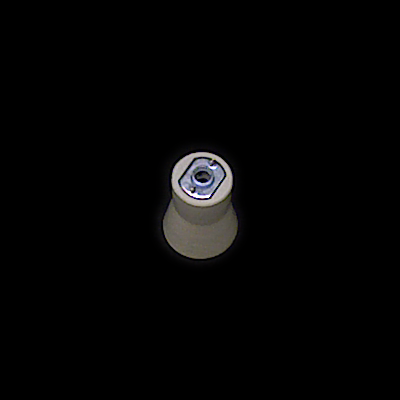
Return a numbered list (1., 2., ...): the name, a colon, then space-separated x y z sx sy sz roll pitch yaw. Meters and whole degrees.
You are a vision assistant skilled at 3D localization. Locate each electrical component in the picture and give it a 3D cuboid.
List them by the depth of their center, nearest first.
1. electrical component: 0.000 0.000 0.624 0.044 0.044 0.065 0 -27 -1
